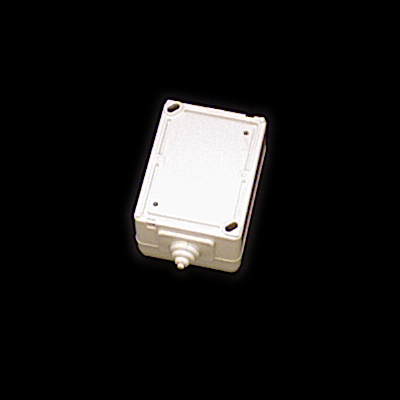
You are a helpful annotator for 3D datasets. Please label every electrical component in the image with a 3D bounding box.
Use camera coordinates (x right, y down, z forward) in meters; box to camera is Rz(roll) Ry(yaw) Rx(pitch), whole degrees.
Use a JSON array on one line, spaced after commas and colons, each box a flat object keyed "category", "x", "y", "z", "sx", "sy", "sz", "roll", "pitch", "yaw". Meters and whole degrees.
[{"category": "electrical component", "x": 0.000, "y": 0.000, "z": 0.627, "sx": 0.061, "sy": 0.096, "sz": 0.060, "roll": 11, "pitch": -26, "yaw": 5}]
